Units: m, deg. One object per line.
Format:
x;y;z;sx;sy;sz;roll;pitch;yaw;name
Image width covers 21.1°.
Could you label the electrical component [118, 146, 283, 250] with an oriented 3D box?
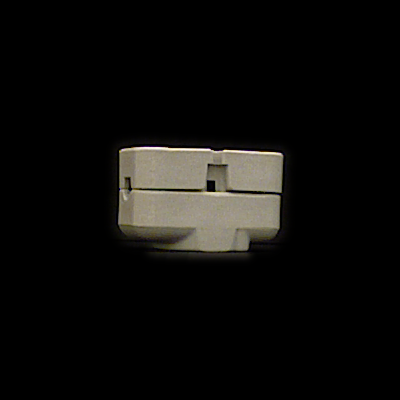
0.000;0.000;0.655;0.096;0.059;0.053;2;1;-23;electrical component
